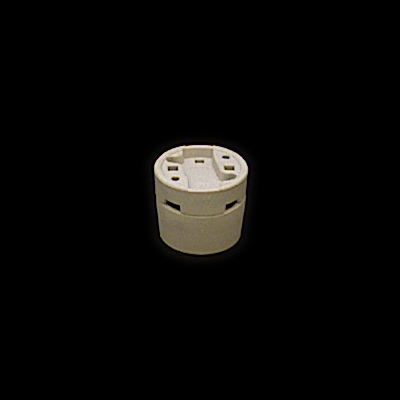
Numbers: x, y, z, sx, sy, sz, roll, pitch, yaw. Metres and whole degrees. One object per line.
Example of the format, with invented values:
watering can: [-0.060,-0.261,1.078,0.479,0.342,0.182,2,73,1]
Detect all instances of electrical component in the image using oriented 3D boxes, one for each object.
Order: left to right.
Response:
electrical component: [0.000,0.000,0.638,0.055,0.047,0.055,1,31,0]
